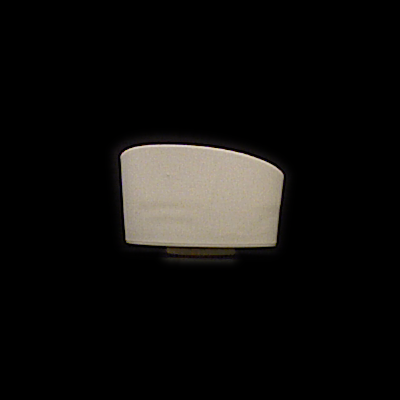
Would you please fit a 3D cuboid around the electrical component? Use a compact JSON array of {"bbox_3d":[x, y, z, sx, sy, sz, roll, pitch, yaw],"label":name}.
[{"bbox_3d":[0.000,0.000,0.649,0.099,0.064,0.099,1,1,0],"label":"electrical component"}]
